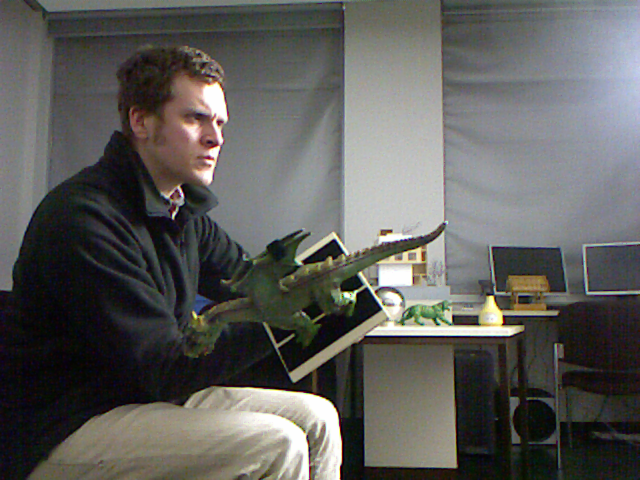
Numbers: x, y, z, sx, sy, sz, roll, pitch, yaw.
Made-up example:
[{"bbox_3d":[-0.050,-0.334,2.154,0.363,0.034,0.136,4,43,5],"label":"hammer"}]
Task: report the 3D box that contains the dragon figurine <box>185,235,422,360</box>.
[{"bbox_3d":[-0.037,0.066,0.816,0.411,0.125,0.241,-35,-27,6],"label":"dragon figurine"}]
